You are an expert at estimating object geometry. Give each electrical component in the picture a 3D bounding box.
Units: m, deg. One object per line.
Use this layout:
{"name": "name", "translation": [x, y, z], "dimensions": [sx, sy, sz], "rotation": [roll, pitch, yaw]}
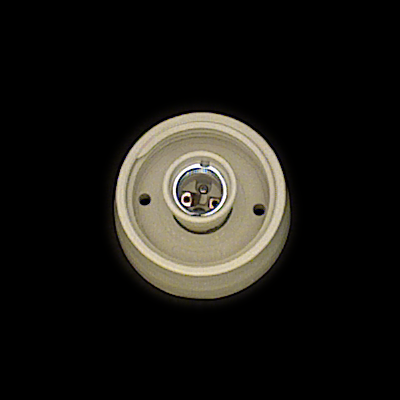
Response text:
{"name": "electrical component", "translation": [0.000, 0.000, 0.634], "dimensions": [0.108, 0.108, 0.060], "rotation": [0, -16, 0]}
